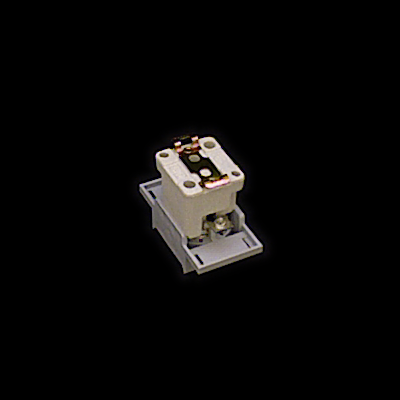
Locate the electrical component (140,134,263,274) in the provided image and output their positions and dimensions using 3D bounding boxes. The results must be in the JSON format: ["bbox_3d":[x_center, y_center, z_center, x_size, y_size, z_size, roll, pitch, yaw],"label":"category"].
[{"bbox_3d":[0.000,0.000,0.630,0.042,0.064,0.080,-19,46,-21],"label":"electrical component"}]
